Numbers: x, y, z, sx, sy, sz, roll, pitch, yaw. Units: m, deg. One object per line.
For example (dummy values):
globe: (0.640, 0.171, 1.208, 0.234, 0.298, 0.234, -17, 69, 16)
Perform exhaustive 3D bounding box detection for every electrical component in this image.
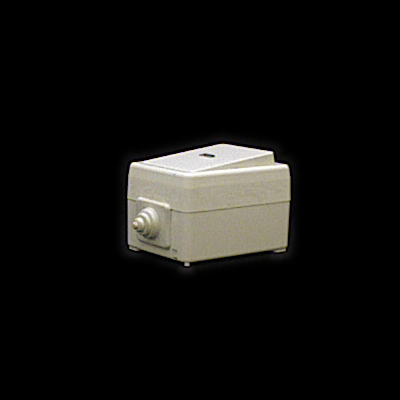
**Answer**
electrical component: (0.000, 0.000, 0.643, 0.096, 0.061, 0.061, -7, 13, -38)
